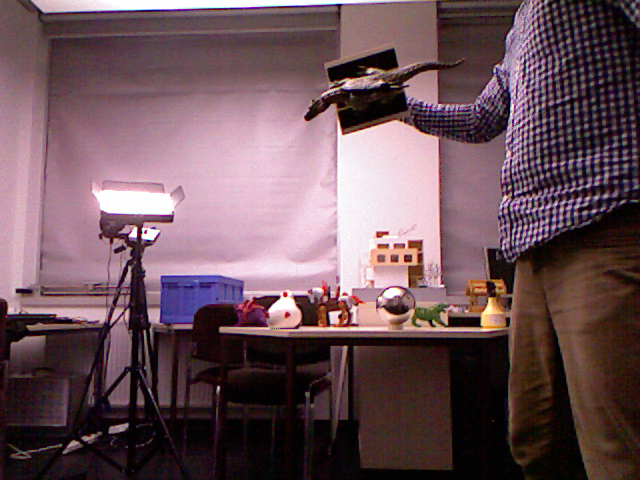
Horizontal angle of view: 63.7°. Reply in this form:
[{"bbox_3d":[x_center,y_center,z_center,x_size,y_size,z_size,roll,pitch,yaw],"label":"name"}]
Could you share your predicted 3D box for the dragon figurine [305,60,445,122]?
[{"bbox_3d":[0.146,-0.412,1.368,0.410,0.121,0.246,-22,11,9],"label":"dragon figurine"}]
